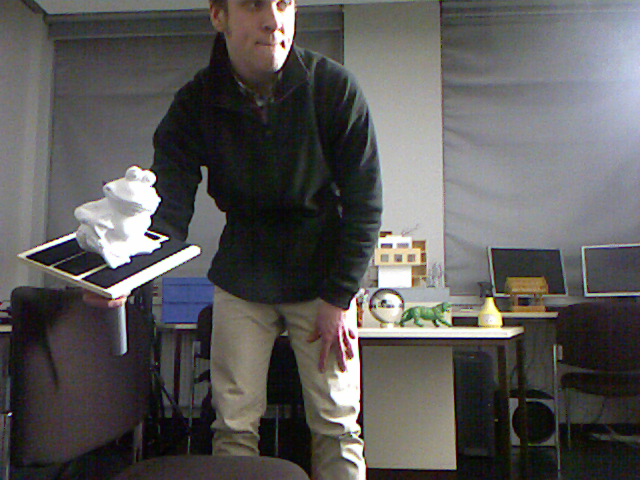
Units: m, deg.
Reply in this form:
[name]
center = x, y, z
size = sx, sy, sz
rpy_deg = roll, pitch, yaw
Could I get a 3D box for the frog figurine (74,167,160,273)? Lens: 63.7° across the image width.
[frog figurine]
center = -0.332, -0.048, 0.845
size = 0.139, 0.156, 0.124
rpy_deg = -17, 36, -42
